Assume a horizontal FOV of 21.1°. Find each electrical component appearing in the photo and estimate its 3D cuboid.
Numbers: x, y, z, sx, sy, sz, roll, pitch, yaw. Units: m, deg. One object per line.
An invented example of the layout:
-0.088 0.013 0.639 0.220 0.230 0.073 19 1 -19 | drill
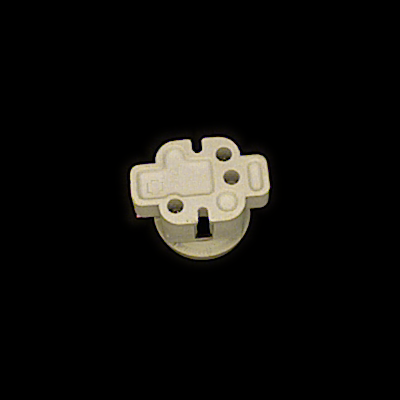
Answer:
0.000 0.000 0.635 0.078 0.058 0.056 -6 -26 -1 | electrical component
